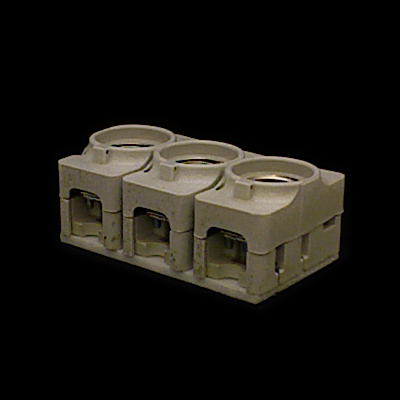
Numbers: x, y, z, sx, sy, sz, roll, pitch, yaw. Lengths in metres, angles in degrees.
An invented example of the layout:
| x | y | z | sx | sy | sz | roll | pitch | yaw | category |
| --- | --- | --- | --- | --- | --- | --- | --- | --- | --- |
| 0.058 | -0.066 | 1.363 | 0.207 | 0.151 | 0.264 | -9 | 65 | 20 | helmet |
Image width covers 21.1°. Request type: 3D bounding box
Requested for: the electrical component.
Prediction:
| x | y | z | sx | sy | sz | roll | pitch | yaw | category |
| --- | --- | --- | --- | --- | --- | --- | --- | --- | --- |
| 0.000 | 0.000 | 0.643 | 0.149 | 0.063 | 0.088 | 15 | 25 | 34 | electrical component |
